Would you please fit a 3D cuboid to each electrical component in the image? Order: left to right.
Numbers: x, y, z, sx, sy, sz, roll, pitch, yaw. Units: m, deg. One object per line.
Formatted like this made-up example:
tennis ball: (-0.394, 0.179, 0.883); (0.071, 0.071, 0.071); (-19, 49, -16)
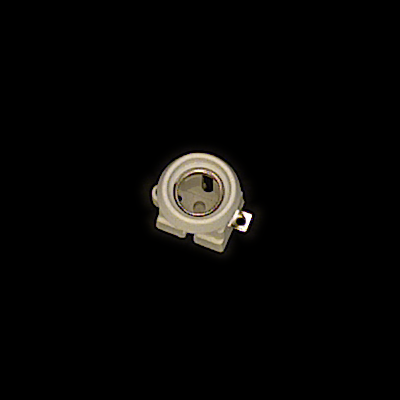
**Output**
electrical component: (0.000, 0.000, 0.638); (0.066, 0.048, 0.055); (20, -13, 6)
